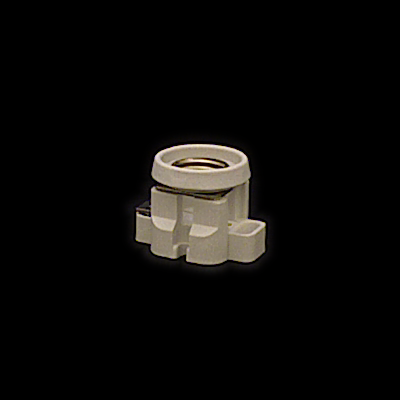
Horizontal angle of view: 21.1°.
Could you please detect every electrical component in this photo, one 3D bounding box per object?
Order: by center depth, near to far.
[{"bbox_3d":[0.000,0.000,0.639,0.078,0.057,0.057,10,23,23],"label":"electrical component"}]
